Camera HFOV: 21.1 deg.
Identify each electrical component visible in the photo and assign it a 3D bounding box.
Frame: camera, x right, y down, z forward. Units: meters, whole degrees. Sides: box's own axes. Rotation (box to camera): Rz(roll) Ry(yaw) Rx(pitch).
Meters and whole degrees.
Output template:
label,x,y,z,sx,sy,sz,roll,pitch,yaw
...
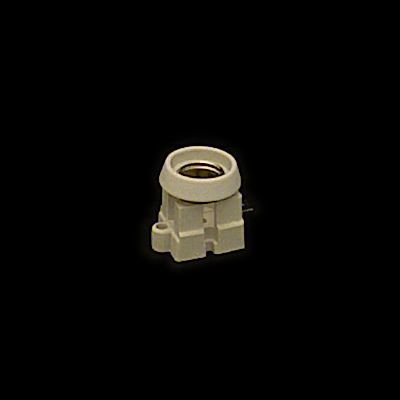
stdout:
label,x,y,z,sx,sy,sz,roll,pitch,yaw
electrical component,0.000,0.000,0.644,0.067,0.056,0.047,-11,36,-19
